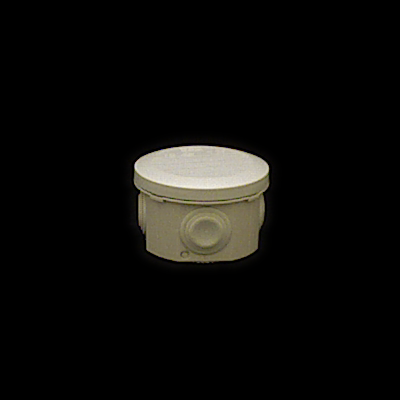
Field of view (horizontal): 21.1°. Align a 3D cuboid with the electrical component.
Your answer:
[{"bbox_3d":[0.000,0.000,0.641,0.080,0.051,0.079,1,21,0],"label":"electrical component"}]
